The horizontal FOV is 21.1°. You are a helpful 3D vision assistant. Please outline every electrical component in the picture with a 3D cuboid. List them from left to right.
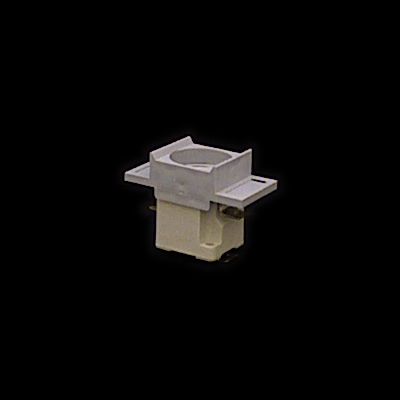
[{"bbox_3d":[0.000,0.000,0.639,0.080,0.064,0.042,14,26,29],"label":"electrical component"}]
